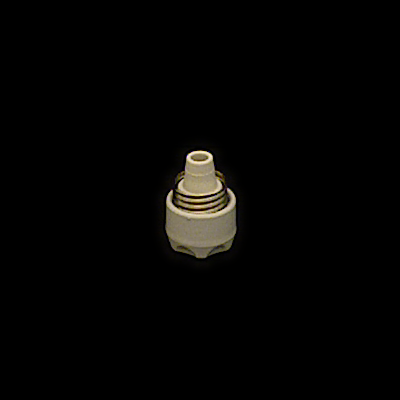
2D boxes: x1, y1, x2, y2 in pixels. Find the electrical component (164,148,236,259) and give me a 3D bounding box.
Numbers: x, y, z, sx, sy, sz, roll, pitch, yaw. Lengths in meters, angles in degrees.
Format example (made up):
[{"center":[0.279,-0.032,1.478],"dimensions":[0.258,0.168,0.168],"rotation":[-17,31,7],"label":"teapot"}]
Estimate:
[{"center":[0.000,0.000,0.641],"dimensions":[0.043,0.063,0.043],"rotation":[0,33,1],"label":"electrical component"}]
